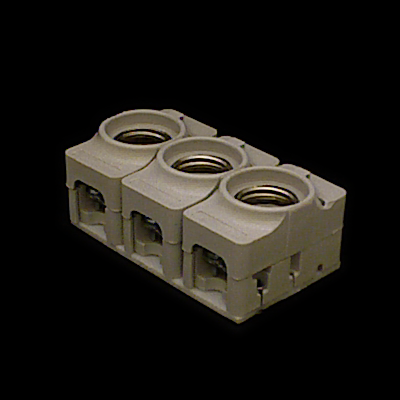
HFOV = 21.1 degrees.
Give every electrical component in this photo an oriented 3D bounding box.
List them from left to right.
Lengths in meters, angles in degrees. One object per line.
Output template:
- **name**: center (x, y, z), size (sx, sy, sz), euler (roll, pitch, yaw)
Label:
- **electrical component**: center (0.000, 0.000, 0.642), size (0.148, 0.063, 0.089), euler (28, 40, 37)
